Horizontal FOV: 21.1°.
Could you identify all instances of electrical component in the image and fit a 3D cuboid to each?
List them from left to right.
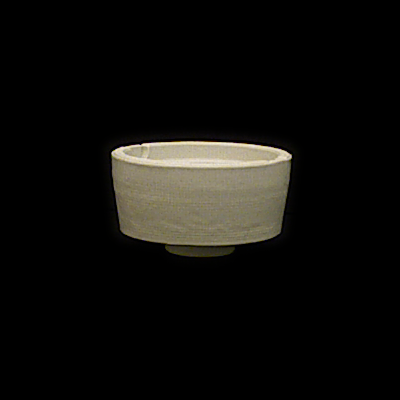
[{"bbox_3d":[0.000,0.000,0.651,0.108,0.061,0.107,1,11,0],"label":"electrical component"}]
